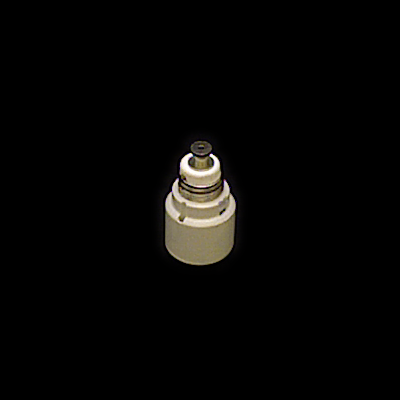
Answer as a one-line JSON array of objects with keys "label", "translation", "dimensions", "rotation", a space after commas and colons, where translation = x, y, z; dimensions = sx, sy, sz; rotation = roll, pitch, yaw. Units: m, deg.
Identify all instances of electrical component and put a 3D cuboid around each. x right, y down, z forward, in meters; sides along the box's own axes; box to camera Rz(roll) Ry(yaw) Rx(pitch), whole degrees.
[{"label": "electrical component", "translation": [0.000, 0.000, 0.624], "dimensions": [0.040, 0.079, 0.039], "rotation": [1, 41, 0]}]
